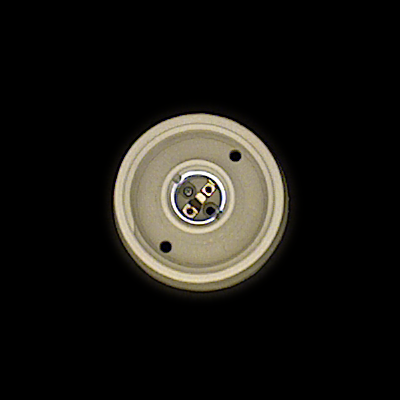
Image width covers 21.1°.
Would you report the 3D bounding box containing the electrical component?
[{"bbox_3d":[0.000,0.000,0.635,0.108,0.108,0.060,0,-6,0],"label":"electrical component"}]
